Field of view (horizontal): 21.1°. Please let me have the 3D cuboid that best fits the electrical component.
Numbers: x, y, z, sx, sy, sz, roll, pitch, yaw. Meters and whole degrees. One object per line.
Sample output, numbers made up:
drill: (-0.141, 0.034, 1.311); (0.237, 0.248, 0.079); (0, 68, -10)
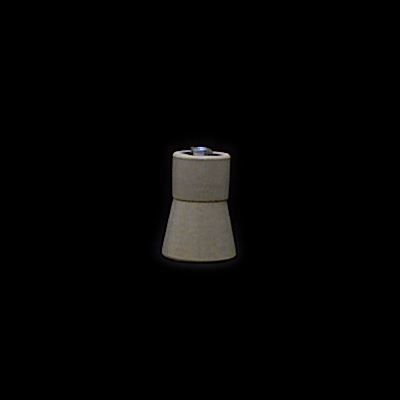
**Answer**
electrical component: (0.000, 0.000, 0.644); (0.044, 0.066, 0.044); (2, 10, 0)
